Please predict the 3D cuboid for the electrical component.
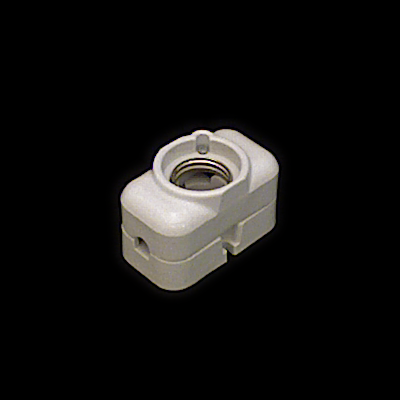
[{"bbox_3d":[0.000,0.000,0.639,0.095,0.060,0.053,-33,53,-32],"label":"electrical component"}]
